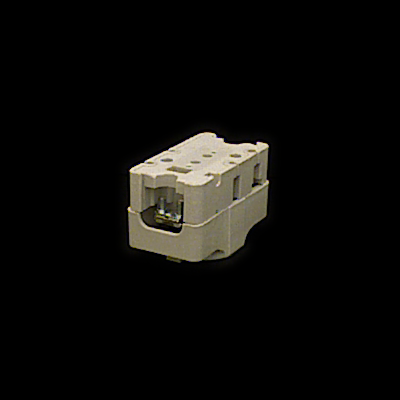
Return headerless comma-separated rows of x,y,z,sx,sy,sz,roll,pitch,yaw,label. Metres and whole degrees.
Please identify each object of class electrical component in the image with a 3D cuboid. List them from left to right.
0.000,0.000,0.646,0.049,0.056,0.089,14,25,27,electrical component
